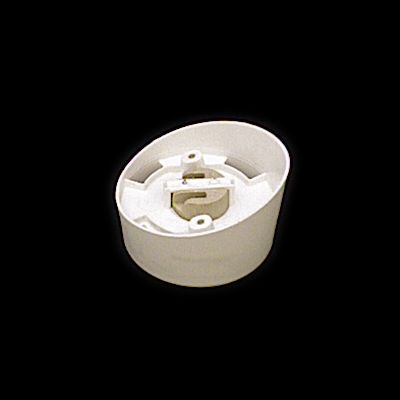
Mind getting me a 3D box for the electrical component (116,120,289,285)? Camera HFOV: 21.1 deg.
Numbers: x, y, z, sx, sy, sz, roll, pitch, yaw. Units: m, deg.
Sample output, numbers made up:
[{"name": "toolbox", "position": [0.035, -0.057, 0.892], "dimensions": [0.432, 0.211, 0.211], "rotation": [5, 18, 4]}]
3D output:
[{"name": "electrical component", "position": [0.000, 0.000, 0.630], "dimensions": [0.099, 0.065, 0.097], "rotation": [1, 41, -1]}]
